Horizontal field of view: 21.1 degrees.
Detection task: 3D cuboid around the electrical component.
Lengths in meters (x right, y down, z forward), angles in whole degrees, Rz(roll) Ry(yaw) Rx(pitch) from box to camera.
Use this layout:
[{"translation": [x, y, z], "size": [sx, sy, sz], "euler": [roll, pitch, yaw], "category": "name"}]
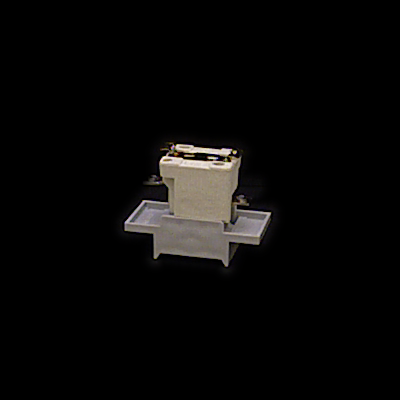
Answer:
[{"translation": [0.000, 0.000, 0.639], "size": [0.081, 0.064, 0.041], "euler": [5, 21, 11], "category": "electrical component"}]
